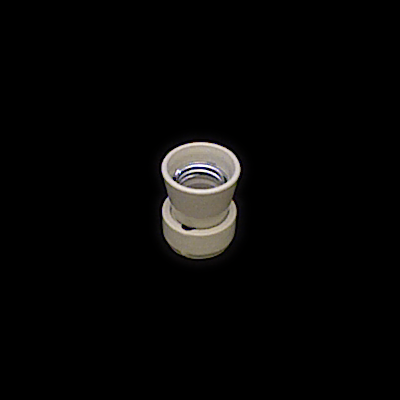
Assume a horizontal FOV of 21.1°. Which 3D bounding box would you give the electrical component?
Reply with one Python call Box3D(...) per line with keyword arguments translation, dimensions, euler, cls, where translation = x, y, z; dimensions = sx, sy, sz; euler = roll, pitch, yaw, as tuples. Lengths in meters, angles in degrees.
Box3D(translation=(0.000, 0.000, 0.633), dimensions=(0.045, 0.056, 0.044), euler=(1, 42, -1), cls="electrical component")
